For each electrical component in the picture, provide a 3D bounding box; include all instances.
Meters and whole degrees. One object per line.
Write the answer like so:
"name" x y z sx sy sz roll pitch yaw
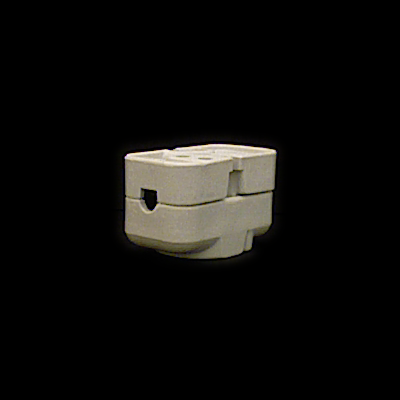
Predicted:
"electrical component" 0.000 0.000 0.651 0.053 0.060 0.095 11 14 39
